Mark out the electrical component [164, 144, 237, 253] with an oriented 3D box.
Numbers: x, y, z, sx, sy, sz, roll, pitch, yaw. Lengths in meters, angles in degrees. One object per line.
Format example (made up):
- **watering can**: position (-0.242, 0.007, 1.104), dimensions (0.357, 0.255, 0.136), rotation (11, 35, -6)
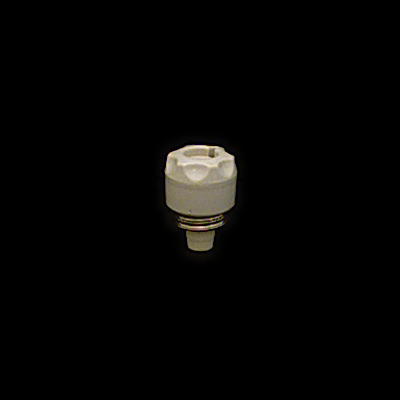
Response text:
- **electrical component**: position (0.000, 0.000, 0.645), dimensions (0.043, 0.063, 0.043), rotation (1, 23, 0)
